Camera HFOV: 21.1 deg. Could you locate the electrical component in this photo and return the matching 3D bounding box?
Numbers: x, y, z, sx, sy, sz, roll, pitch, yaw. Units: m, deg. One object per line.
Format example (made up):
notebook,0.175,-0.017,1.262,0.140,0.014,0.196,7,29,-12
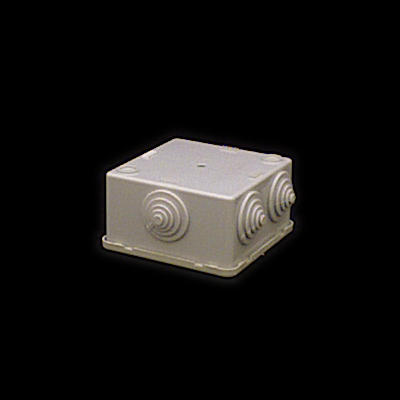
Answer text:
electrical component,0.000,0.000,0.642,0.099,0.049,0.099,12,23,26
